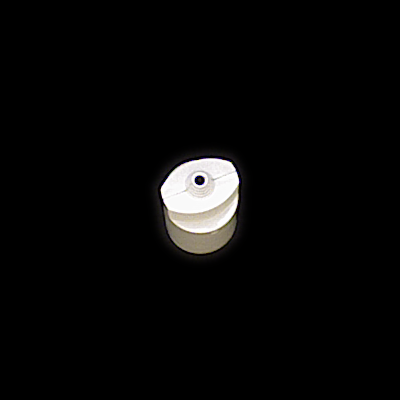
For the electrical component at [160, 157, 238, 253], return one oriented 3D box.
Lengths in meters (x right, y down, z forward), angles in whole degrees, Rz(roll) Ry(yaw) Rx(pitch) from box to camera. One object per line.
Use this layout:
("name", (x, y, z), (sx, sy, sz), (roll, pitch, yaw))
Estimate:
("electrical component", (0.000, 0.000, 0.616), (0.043, 0.043, 0.080), (0, -17, 1))
